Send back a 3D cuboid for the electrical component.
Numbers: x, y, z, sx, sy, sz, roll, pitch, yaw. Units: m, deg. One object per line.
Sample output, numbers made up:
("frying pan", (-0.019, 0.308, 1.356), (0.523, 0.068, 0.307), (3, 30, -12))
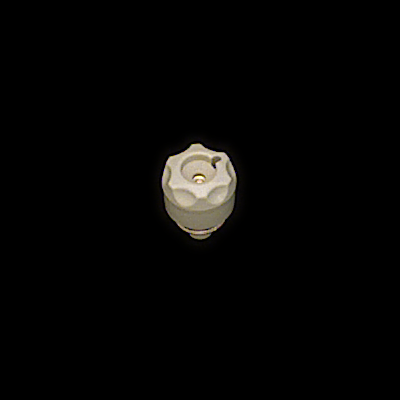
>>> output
("electrical component", (0.000, 0.000, 0.635), (0.043, 0.043, 0.062), (0, -37, 0))
